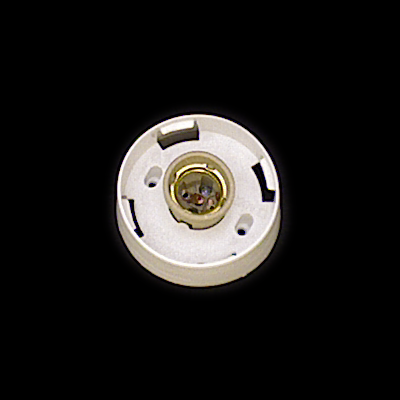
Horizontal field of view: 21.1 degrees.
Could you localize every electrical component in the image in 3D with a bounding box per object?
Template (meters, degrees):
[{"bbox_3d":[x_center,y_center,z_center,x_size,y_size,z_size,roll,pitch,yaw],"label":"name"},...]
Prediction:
[{"bbox_3d":[0.000,0.000,0.624,0.099,0.099,0.063,0,-17,0],"label":"electrical component"}]
